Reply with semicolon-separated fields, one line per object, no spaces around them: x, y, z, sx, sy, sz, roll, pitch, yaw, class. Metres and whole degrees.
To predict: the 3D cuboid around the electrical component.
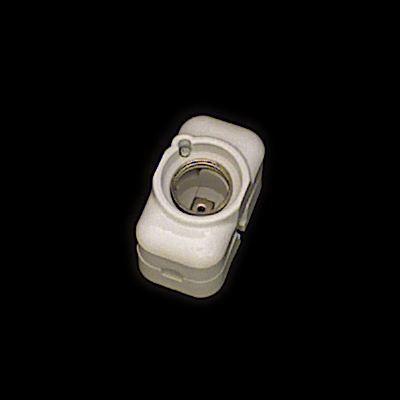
0.000;0.000;0.634;0.053;0.095;0.059;18;-25;9;electrical component
